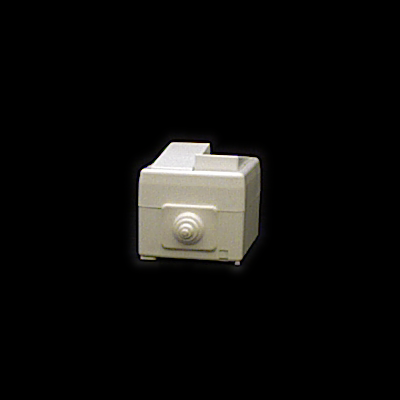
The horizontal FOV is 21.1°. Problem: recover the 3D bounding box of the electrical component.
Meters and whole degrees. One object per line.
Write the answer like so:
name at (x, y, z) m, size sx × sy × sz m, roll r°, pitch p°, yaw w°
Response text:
electrical component at (0.000, 0.000, 0.642) m, size 0.061 × 0.061 × 0.095 m, roll 3°, pitch 10°, yaw 10°
